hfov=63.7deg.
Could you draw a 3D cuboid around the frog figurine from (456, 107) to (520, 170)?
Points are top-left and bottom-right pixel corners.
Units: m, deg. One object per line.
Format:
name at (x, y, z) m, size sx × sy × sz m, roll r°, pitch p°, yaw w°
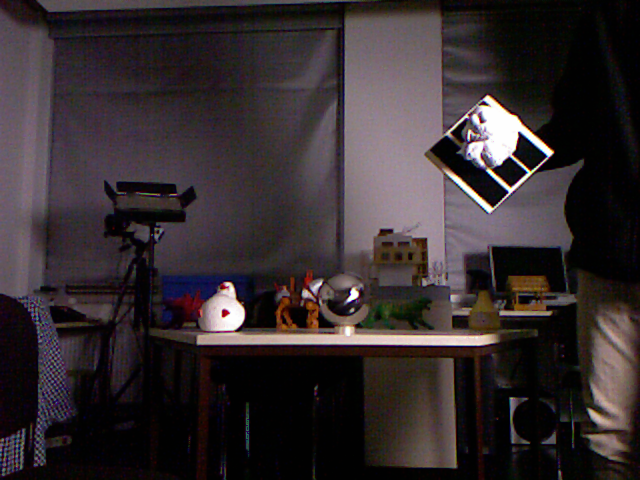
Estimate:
frog figurine at (0.374, -0.229, 1.134) m, size 0.138 × 0.124 × 0.158 m, roll -21°, pitch -14°, yaw 2°
